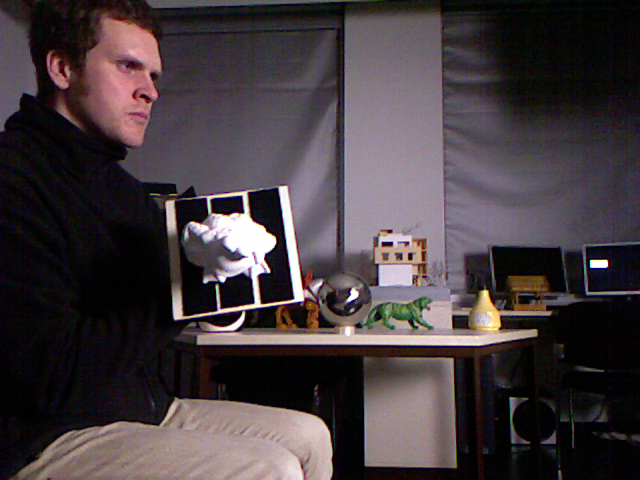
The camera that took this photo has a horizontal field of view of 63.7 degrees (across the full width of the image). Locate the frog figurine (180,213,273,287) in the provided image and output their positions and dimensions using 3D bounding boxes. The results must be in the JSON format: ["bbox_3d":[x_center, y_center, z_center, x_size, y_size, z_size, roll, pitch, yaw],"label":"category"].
[{"bbox_3d":[-0.140,0.004,0.761,0.138,0.125,0.157,9,-20,2],"label":"frog figurine"}]
